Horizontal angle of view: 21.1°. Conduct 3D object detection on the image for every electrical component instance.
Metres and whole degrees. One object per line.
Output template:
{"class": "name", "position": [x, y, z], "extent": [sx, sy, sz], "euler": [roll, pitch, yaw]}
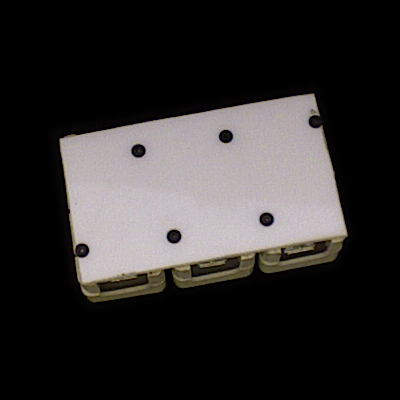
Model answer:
{"class": "electrical component", "position": [0.000, 0.000, 0.630], "extent": [0.150, 0.089, 0.062], "euler": [-10, -17, -2]}
